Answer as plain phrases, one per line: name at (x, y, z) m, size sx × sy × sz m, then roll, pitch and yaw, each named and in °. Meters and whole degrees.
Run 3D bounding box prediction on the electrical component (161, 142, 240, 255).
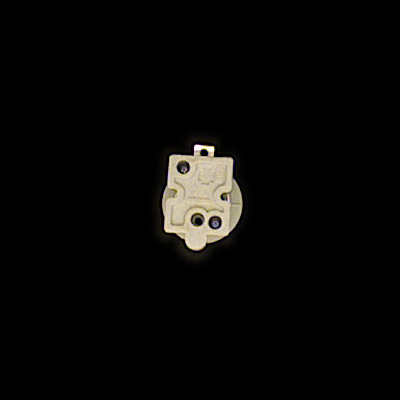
electrical component at (0.000, 0.000, 0.639) m, size 0.048 × 0.066 × 0.055 m, roll 4°, pitch -6°, yaw 2°
